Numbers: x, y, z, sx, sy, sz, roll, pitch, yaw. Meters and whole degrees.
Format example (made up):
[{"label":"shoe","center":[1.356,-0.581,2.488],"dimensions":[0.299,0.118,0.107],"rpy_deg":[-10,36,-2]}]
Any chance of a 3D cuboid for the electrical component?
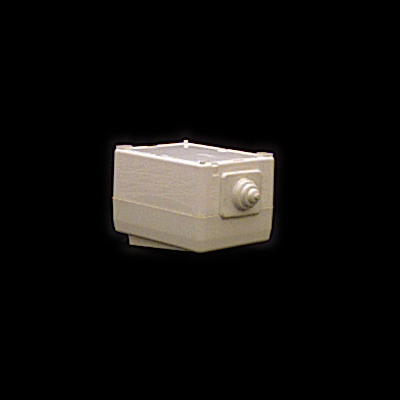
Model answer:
[{"label":"electrical component","center":[0.000,0.000,0.642],"dimensions":[0.062,0.061,0.095],"rpy_deg":[-9,15,-43]}]
